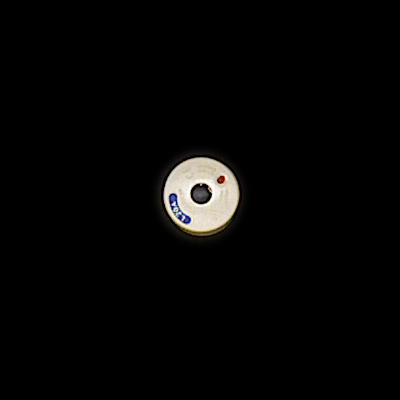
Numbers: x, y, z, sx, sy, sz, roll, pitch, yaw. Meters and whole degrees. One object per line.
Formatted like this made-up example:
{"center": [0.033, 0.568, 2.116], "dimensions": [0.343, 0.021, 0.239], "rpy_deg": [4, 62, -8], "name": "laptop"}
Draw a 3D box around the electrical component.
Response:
{"center": [0.000, 0.000, 0.618], "dimensions": [0.040, 0.040, 0.078], "rpy_deg": [0, -6, 0], "name": "electrical component"}
